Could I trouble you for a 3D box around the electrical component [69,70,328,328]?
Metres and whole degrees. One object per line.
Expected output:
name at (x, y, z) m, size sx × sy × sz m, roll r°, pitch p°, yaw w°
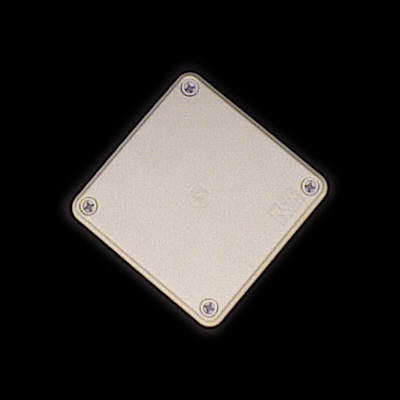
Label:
electrical component at (0.000, 0.000, 0.631) m, size 0.109 × 0.109 × 0.056 m, roll 40°, pitch -5°, yaw 5°
